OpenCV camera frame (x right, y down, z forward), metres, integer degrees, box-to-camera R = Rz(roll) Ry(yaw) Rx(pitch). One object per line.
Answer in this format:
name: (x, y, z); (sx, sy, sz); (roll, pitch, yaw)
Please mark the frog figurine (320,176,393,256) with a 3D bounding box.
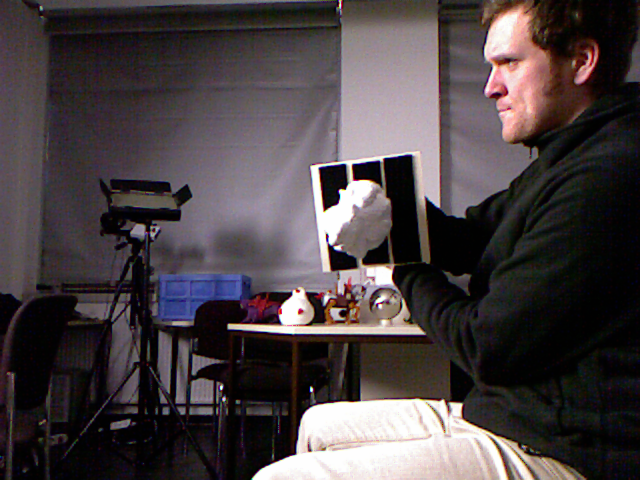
frog figurine: (0.067, -0.039, 0.888); (0.123, 0.137, 0.161); (15, 11, 4)
